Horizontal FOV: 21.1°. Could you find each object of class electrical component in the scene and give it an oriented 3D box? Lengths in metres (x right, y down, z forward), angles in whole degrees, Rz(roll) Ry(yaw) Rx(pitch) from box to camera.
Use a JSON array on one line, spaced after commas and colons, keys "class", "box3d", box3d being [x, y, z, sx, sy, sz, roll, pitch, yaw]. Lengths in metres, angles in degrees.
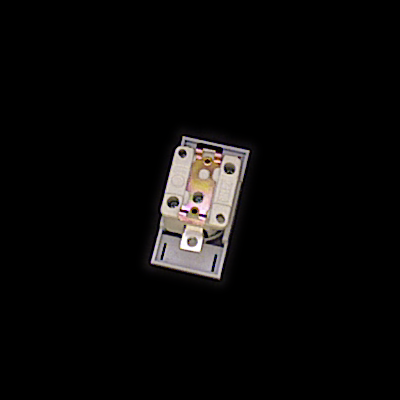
[{"class": "electrical component", "box3d": [0.000, 0.000, 0.625, 0.042, 0.081, 0.063, 12, -16, 4]}]
